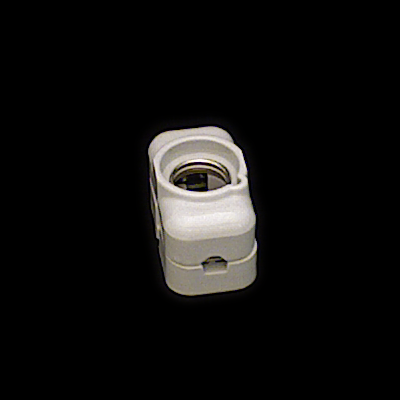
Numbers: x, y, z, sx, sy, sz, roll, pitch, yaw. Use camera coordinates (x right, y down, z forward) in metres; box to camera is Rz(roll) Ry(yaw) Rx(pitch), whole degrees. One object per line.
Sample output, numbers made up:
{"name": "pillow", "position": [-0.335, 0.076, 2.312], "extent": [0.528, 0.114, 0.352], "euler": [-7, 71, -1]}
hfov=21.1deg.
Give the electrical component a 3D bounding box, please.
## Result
{"name": "electrical component", "position": [0.000, 0.000, 0.638], "extent": [0.054, 0.060, 0.094], "euler": [-7, 44, -7]}
